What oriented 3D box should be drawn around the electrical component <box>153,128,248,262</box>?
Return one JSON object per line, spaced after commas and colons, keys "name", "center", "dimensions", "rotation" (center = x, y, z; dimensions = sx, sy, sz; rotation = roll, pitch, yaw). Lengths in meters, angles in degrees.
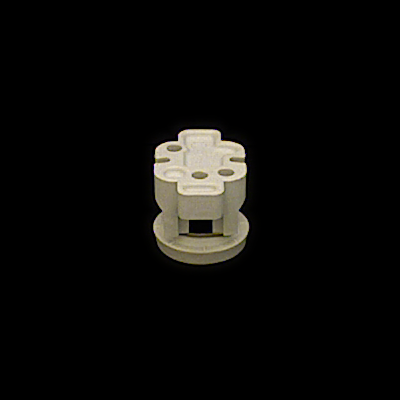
{"name": "electrical component", "center": [0.000, 0.000, 0.643], "dimensions": [0.058, 0.057, 0.077], "rotation": [-1, 31, -2]}
